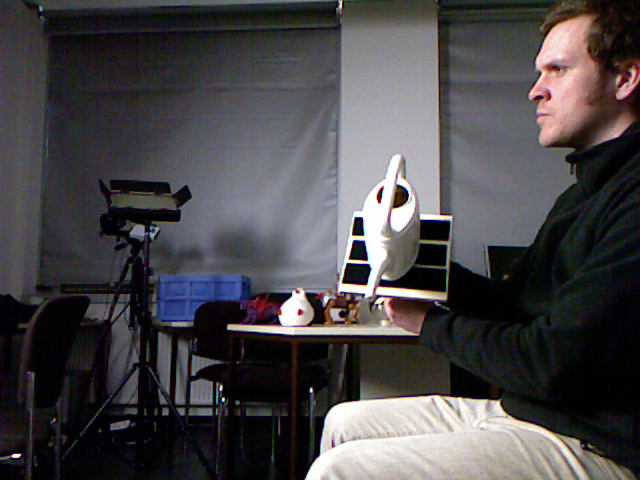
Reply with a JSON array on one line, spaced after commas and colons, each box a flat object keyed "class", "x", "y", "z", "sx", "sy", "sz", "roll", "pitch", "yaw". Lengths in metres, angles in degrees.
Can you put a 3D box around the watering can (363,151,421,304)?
[{"class": "watering can", "x": 0.124, "y": 0.001, "z": 0.935, "sx": 0.104, "sy": 0.357, "sz": 0.220, "roll": 6, "pitch": -35, "yaw": 15}]
